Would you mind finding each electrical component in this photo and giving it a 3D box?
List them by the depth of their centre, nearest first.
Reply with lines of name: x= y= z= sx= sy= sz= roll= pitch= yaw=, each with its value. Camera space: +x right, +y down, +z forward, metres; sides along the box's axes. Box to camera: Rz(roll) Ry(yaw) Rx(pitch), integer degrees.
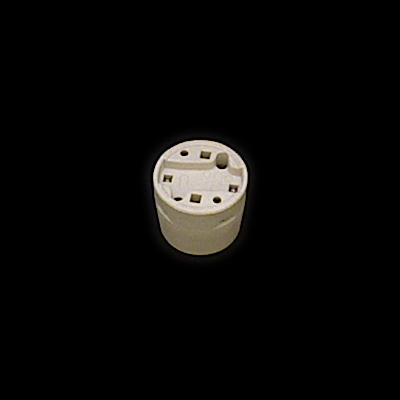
electrical component: x=0.000 y=0.000 z=0.635 sx=0.055 sy=0.055 sz=0.047 roll=0 pitch=-38 yaw=0
